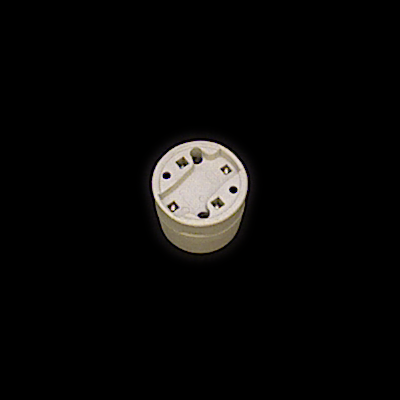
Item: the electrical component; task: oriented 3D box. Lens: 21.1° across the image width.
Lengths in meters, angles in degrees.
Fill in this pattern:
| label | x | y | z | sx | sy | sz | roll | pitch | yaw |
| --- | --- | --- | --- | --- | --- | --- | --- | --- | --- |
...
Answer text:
| label | x | y | z | sx | sy | sz | roll | pitch | yaw |
| --- | --- | --- | --- | --- | --- | --- | --- | --- | --- |
| electrical component | 0.000 | 0.000 | 0.633 | 0.055 | 0.056 | 0.047 | 0 | -28 | 0 |
